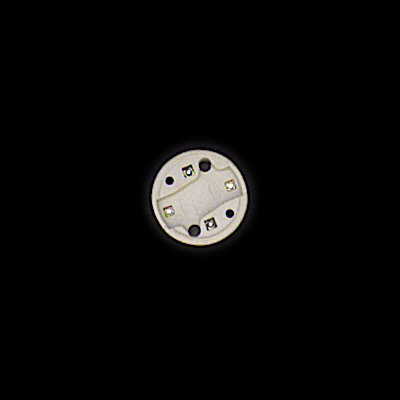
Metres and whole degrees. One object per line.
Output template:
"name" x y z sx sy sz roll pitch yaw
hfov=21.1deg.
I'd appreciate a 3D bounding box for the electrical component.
"electrical component" 0.000 0.000 0.635 0.055 0.056 0.047 0 -7 0
